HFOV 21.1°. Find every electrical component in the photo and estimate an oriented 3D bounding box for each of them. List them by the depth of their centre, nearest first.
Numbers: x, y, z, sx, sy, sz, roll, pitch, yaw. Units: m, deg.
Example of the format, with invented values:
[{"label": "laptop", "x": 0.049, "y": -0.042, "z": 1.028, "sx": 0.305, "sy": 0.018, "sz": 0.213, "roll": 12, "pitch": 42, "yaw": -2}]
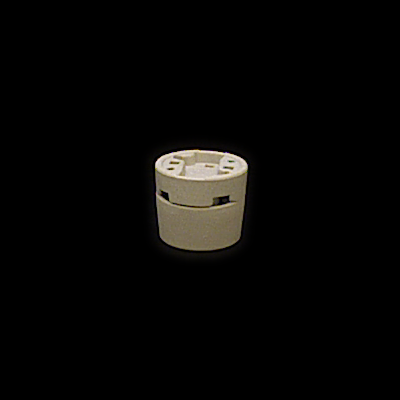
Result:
[{"label": "electrical component", "x": 0.000, "y": 0.000, "z": 0.643, "sx": 0.055, "sy": 0.047, "sz": 0.055, "roll": 1, "pitch": 22, "yaw": 0}]
